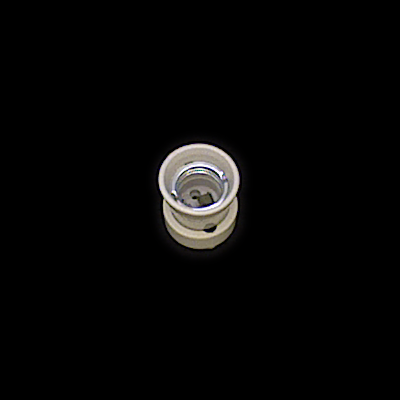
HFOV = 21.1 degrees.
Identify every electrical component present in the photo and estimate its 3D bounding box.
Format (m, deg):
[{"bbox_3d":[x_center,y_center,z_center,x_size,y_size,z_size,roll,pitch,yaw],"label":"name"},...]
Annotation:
[{"bbox_3d":[0.000,0.000,0.627,0.045,0.045,0.055,0,-27,1],"label":"electrical component"}]
